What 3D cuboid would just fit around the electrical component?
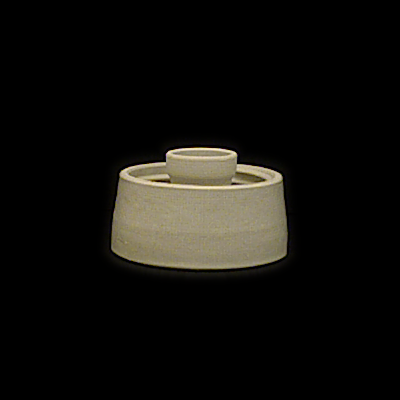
[{"bbox_3d":[0.000,0.000,0.652,0.108,0.061,0.107,1,11,0],"label":"electrical component"}]
